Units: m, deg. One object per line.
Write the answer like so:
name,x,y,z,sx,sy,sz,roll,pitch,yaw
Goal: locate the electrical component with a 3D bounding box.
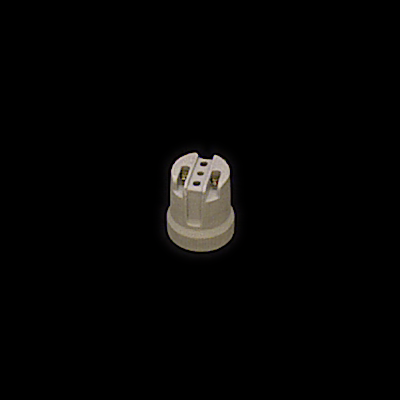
electrical component,0.000,0.000,0.635,0.040,0.046,0.040,0,42,0
